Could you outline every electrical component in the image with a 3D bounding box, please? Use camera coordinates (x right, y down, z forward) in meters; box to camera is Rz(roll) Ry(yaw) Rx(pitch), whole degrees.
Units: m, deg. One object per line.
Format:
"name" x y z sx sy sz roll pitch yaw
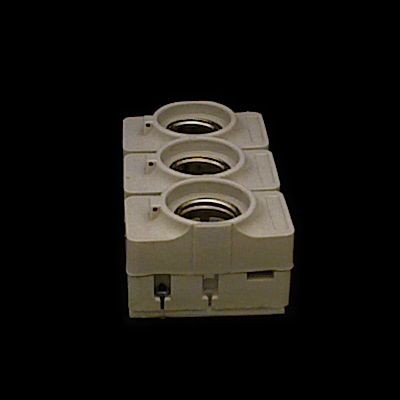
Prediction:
"electrical component" 0.000 0.000 0.639 0.090 0.063 0.146 -2 31 -4
